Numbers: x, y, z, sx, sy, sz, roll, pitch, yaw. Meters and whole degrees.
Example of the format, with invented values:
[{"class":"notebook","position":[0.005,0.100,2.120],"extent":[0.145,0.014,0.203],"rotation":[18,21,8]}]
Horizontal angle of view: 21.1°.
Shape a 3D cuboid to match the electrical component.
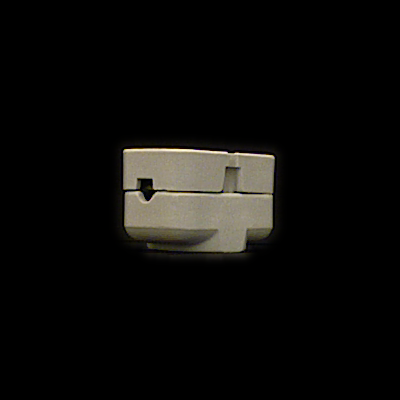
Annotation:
[{"class":"electrical component","position":[0.000,0.000,0.657],"extent":[0.053,0.059,0.096],"rotation":[3,2,42]}]
